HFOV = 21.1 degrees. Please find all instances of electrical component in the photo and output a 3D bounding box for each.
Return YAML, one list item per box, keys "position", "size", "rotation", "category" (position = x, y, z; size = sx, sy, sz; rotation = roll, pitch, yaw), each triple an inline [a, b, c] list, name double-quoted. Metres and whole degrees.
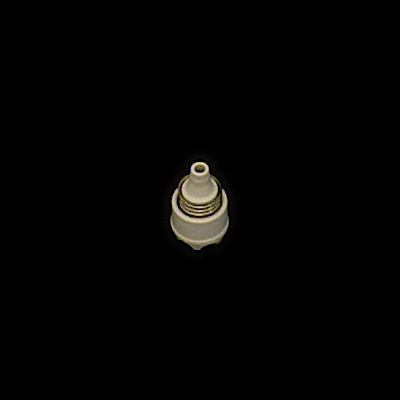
- position: [0.000, 0.000, 0.639]
  size: [0.035, 0.035, 0.062]
  rotation: [0, -38, -1]
  category: "electrical component"
